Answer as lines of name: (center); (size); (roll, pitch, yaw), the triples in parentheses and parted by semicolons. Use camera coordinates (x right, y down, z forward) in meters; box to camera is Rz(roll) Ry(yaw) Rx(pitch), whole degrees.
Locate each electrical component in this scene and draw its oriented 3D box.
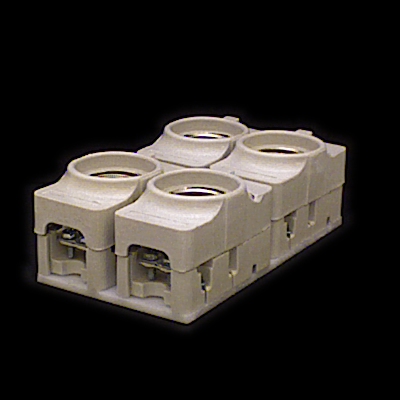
electrical component: (0.000, 0.000, 0.639); (0.105, 0.061, 0.185); (14, 23, 30)
